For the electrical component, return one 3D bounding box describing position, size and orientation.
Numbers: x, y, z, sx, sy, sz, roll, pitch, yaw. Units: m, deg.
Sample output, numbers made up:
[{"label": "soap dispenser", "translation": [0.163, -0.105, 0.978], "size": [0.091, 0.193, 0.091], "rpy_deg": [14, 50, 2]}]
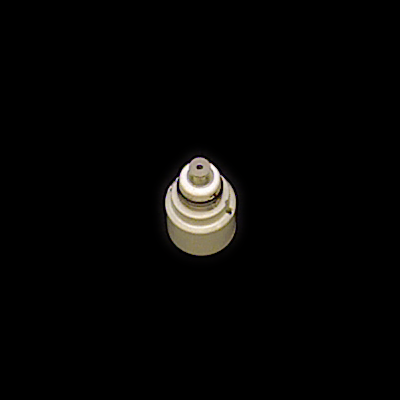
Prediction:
[{"label": "electrical component", "translation": [0.000, 0.000, 0.618], "size": [0.040, 0.040, 0.078], "rpy_deg": [0, -27, 1]}]
